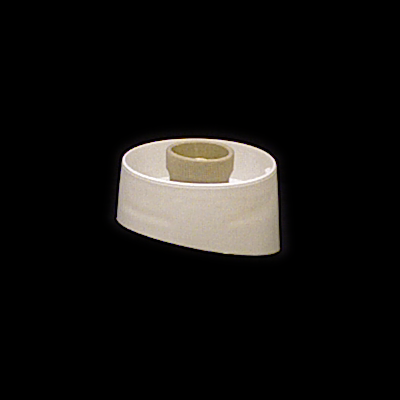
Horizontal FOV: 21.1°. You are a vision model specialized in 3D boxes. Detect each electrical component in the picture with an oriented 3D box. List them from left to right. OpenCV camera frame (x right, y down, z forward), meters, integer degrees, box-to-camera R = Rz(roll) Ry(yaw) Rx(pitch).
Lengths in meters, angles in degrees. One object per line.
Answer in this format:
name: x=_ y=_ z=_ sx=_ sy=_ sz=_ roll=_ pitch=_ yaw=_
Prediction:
electrical component: x=0.000 y=0.000 z=0.637 sx=0.099 sy=0.065 sz=0.097 roll=1 pitch=20 yaw=0
